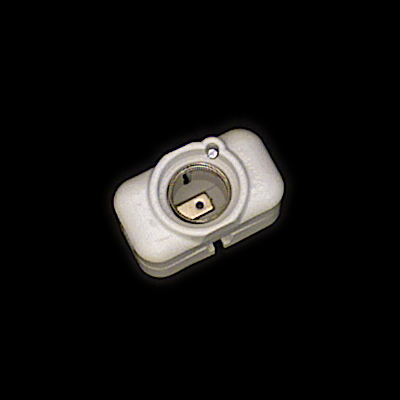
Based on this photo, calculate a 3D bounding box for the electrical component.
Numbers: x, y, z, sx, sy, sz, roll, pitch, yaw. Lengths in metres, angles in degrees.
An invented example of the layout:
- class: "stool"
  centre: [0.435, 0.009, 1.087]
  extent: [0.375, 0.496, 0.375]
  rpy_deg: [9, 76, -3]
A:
- class: "electrical component"
  centre: [0.000, 0.000, 0.634]
  extent: [0.095, 0.053, 0.059]
  rpy_deg: [-27, -14, -8]
